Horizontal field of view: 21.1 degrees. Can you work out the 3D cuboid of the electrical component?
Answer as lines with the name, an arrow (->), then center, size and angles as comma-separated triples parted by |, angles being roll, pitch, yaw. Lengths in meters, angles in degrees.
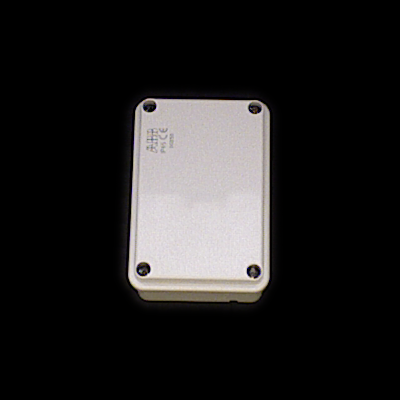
electrical component -> 0.000, 0.000, 0.627 | 0.078, 0.113, 0.057 | 1, -16, 0
